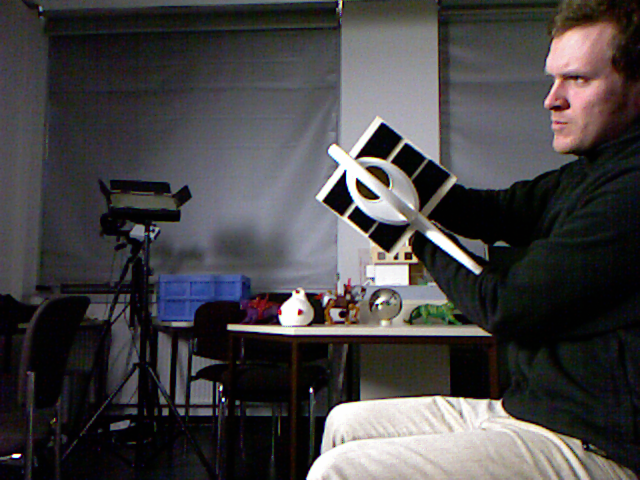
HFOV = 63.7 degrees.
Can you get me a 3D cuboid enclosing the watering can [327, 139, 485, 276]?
[{"bbox_3d":[0.152,-0.070,0.961,0.349,0.103,0.228,40,15,-1],"label":"watering can"}]
